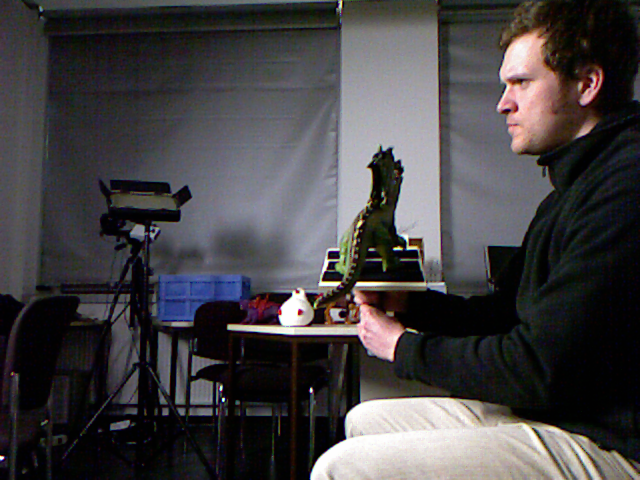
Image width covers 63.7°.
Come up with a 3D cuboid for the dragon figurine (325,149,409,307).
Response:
[{"bbox_3d":[0.102,-0.057,0.999,0.123,0.239,0.418,9,23,18],"label":"dragon figurine"}]
